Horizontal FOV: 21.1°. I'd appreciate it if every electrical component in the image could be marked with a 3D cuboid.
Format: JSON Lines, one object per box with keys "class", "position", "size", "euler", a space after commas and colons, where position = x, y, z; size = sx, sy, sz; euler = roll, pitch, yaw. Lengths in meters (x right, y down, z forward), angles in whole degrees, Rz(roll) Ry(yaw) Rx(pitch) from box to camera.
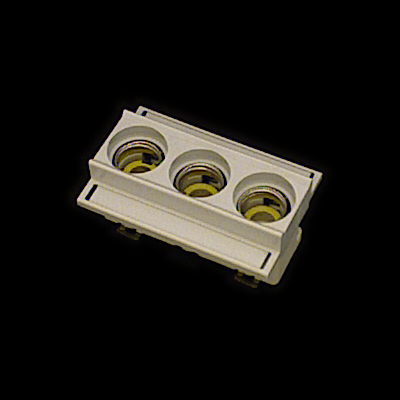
{"class": "electrical component", "position": [0.000, 0.000, 0.638], "size": [0.121, 0.078, 0.063], "euler": [22, -32, 15]}
